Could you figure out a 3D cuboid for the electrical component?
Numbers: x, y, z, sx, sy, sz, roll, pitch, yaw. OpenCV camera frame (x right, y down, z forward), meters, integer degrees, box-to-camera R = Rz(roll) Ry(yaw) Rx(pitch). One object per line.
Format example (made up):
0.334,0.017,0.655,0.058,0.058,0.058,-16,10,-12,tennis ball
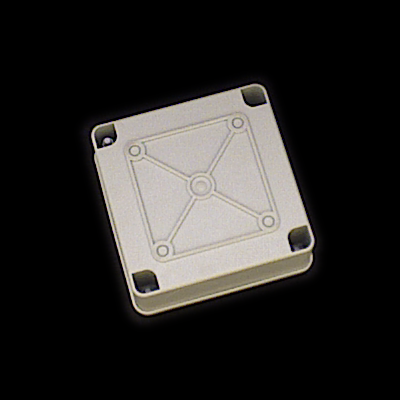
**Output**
0.000,0.000,0.627,0.109,0.109,0.056,-15,-17,-4,electrical component
